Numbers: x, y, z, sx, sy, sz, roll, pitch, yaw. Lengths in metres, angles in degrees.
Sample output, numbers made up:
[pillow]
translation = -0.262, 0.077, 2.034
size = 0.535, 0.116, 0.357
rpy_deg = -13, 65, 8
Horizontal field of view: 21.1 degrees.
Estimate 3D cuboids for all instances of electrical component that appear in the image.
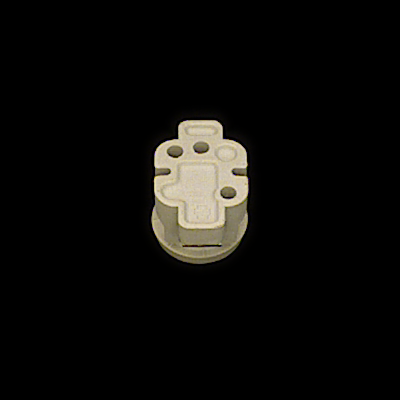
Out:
[electrical component]
translation = 0.000, 0.000, 0.636
size = 0.058, 0.078, 0.057
rpy_deg = -1, -35, -2
